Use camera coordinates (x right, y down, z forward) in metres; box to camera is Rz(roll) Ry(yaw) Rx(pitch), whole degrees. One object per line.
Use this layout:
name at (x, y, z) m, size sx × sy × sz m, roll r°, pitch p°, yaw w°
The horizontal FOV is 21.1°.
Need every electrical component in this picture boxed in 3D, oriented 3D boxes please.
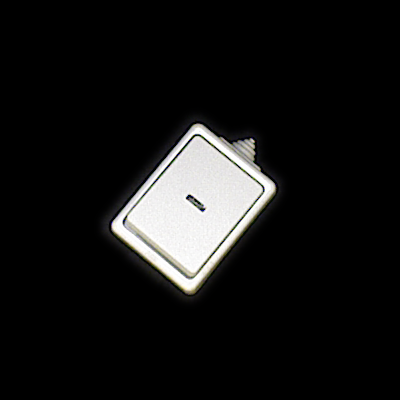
electrical component at (0.000, 0.000, 0.626) m, size 0.062 × 0.096 × 0.061 m, roll 39°, pitch -5°, yaw 4°
